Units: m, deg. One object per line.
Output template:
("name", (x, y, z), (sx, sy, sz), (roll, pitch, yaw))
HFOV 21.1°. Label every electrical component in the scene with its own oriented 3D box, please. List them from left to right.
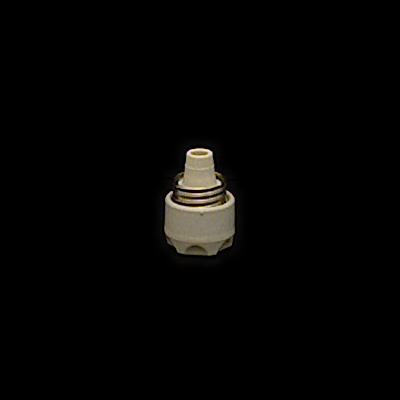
("electrical component", (0.000, 0.000, 0.645), (0.043, 0.063, 0.043), (0, 23, 0))
